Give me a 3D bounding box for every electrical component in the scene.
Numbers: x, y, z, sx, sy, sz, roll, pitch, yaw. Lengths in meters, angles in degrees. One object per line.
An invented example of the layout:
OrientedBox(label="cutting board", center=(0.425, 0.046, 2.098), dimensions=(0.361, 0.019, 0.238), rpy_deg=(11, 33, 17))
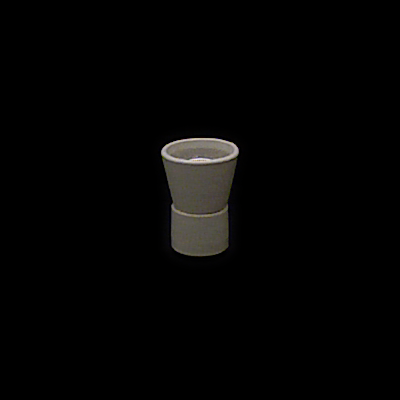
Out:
OrientedBox(label="electrical component", center=(0.000, 0.000, 0.636), dimensions=(0.044, 0.066, 0.044), rpy_deg=(1, 22, 0))
